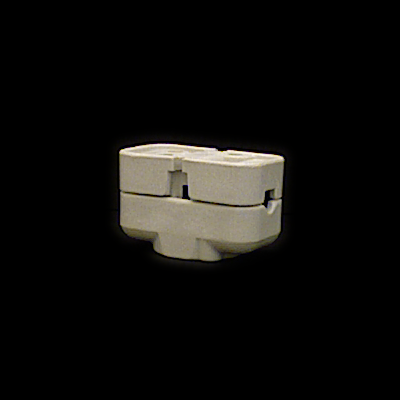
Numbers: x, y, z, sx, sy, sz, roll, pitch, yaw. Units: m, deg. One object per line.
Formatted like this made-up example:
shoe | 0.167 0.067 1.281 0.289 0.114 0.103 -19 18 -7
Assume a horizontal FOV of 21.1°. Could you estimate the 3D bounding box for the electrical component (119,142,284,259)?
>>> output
electrical component | 0.000 0.000 0.649 0.094 0.060 0.054 8 13 29
